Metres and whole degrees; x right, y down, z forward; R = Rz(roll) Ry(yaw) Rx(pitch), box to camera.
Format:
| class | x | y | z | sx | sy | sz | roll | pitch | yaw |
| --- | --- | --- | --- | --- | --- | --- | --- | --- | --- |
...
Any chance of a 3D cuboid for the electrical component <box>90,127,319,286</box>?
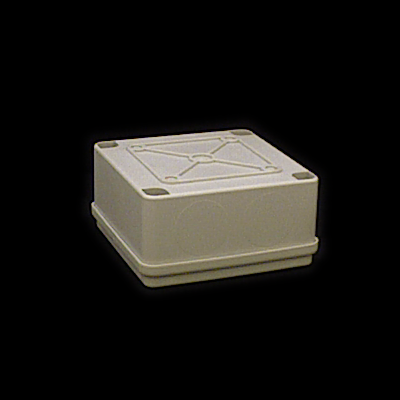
| class | x | y | z | sx | sy | sz | roll | pitch | yaw |
| --- | --- | --- | --- | --- | --- | --- | --- | --- | --- |
| electrical component | 0.000 | 0.000 | 0.640 | 0.109 | 0.057 | 0.107 | -7 | 23 | -20 |
